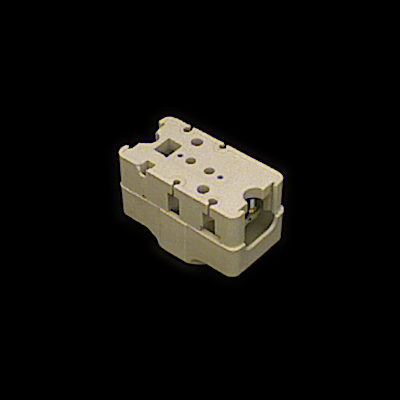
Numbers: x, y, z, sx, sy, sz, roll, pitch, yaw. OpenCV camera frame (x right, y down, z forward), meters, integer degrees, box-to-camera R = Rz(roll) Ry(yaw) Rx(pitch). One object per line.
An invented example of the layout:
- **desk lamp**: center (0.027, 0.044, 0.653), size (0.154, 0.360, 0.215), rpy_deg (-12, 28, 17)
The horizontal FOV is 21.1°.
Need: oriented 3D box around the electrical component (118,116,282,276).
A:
- **electrical component**: center (0.000, 0.000, 0.639), size (0.088, 0.056, 0.050), rpy_deg (29, 51, 28)
